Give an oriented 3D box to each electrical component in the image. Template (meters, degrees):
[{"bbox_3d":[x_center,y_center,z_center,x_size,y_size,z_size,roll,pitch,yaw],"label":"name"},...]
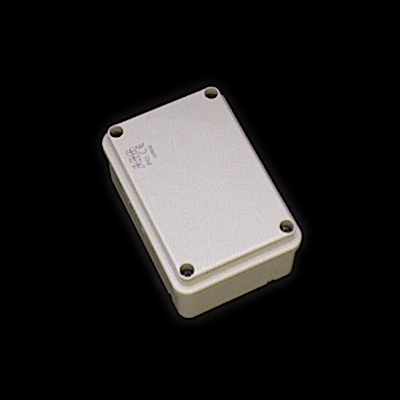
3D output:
[{"bbox_3d":[0.000,0.000,0.626,0.078,0.113,0.057,-23,-24,-12],"label":"electrical component"}]
